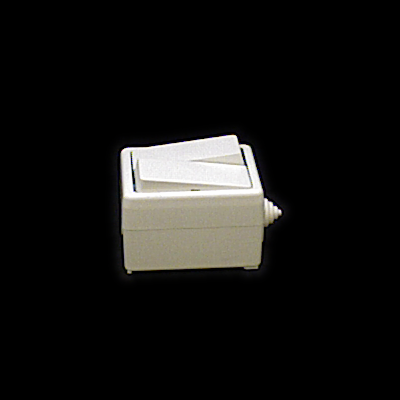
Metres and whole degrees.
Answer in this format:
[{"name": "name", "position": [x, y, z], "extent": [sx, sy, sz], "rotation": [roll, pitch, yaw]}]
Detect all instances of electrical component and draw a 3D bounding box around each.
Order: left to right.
[{"name": "electrical component", "position": [0.000, 0.000, 0.635], "extent": [0.096, 0.061, 0.061], "rotation": [-2, 31, -4]}]
